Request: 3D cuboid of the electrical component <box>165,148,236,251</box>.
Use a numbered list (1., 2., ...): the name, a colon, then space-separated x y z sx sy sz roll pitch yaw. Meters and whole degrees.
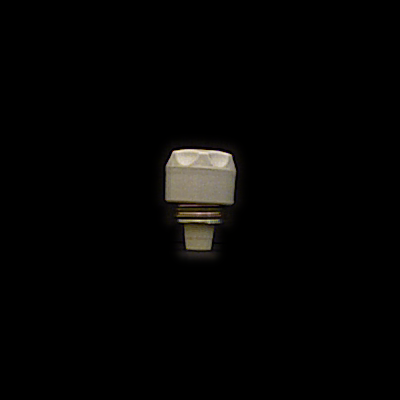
1. electrical component: 0.000 0.000 0.657 0.043 0.062 0.043 2 2 0
